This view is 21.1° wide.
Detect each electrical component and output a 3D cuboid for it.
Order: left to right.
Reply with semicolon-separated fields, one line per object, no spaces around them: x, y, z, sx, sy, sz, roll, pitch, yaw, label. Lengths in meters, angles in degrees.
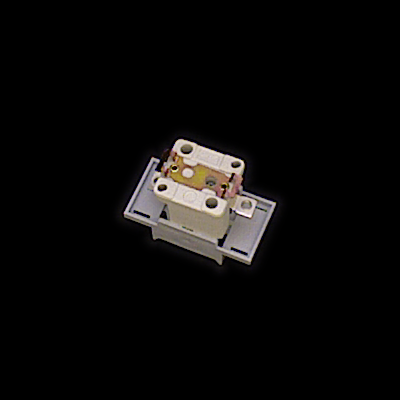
0.000;0.000;0.625;0.081;0.042;0.063;20;-25;9;electrical component
